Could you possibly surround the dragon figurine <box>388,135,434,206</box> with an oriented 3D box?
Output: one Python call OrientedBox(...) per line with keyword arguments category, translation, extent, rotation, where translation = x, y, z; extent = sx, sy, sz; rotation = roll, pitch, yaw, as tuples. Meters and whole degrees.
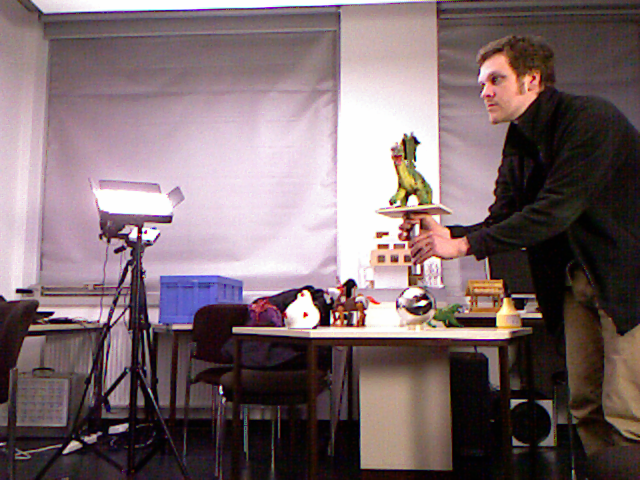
OrientedBox(category="dragon figurine", translation=(0.313, -0.221, 1.676), extent=(0.122, 0.243, 0.410), rotation=(-2, -3, 28))
